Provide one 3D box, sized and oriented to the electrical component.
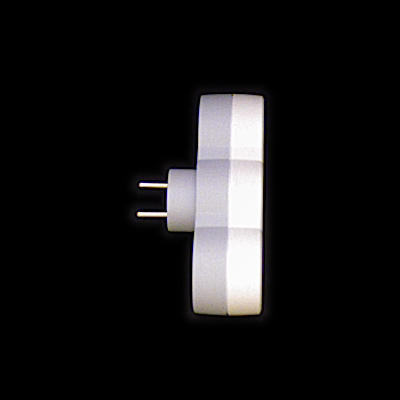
[{"bbox_3d":[0.000,0.000,0.629,0.074,0.139,0.052,1,-26,2],"label":"electrical component"}]
